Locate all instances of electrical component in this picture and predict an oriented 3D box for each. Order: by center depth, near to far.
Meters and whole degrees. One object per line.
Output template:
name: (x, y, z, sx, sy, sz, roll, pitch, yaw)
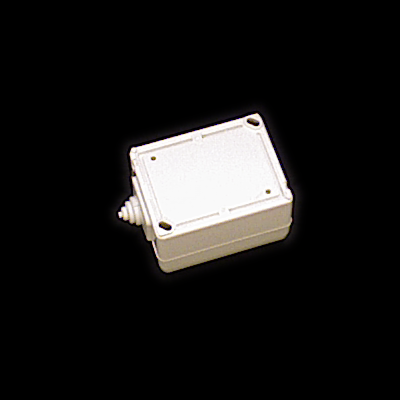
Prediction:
electrical component: (0.000, 0.000, 0.629, 0.096, 0.062, 0.061, -16, -26, -8)
